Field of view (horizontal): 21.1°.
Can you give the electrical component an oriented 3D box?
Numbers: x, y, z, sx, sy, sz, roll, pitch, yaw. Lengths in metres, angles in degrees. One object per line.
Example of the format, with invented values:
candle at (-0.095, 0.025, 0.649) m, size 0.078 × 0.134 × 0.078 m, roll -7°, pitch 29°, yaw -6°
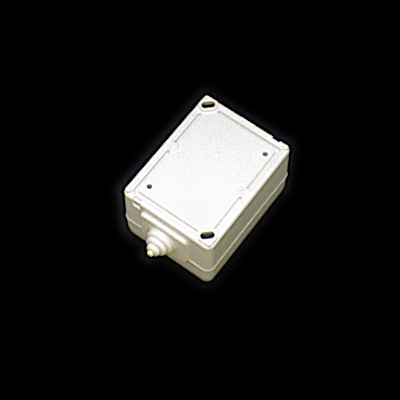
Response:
electrical component at (0.000, 0.000, 0.622) m, size 0.062 × 0.097 × 0.060 m, roll 33°, pitch -23°, yaw 15°
